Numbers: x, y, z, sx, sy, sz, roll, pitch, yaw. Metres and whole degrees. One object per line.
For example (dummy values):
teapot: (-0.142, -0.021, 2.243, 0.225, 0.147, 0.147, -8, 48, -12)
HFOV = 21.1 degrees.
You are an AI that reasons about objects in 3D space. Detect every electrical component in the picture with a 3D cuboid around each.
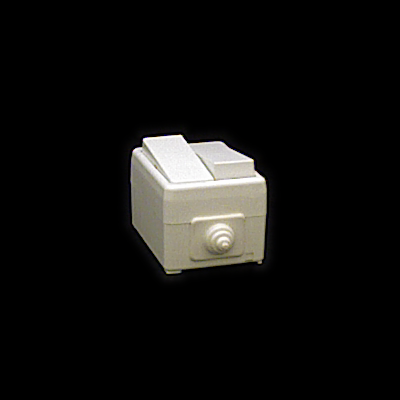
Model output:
electrical component: (0.000, 0.000, 0.636, 0.062, 0.061, 0.095, -6, 22, -17)
